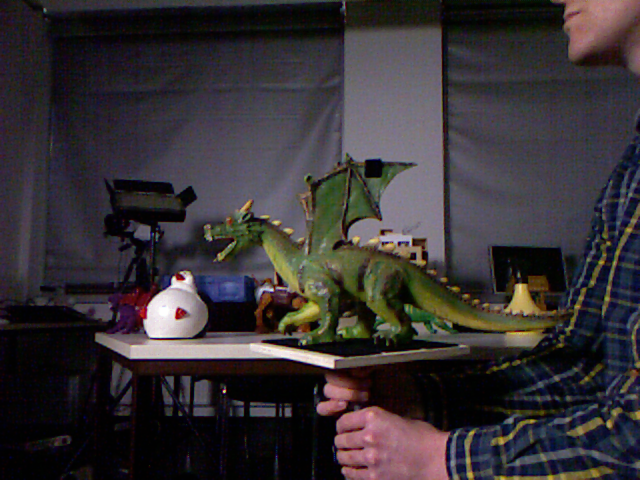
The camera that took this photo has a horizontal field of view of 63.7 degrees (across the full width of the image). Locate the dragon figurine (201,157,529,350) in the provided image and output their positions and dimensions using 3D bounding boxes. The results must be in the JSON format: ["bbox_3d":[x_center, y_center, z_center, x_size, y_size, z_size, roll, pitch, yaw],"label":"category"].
[{"bbox_3d":[0.054,0.010,0.673,0.411,0.243,0.122,-3,-1,1],"label":"dragon figurine"}]
